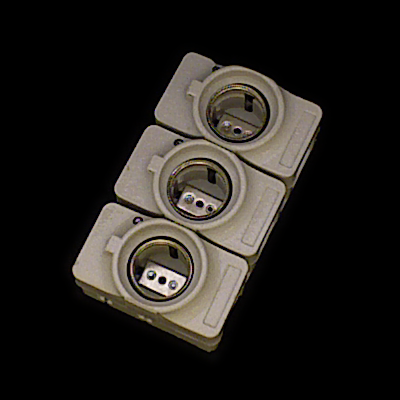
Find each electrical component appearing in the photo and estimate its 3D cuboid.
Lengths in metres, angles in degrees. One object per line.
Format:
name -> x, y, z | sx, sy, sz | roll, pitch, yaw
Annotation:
electrical component -> 0.000, 0.000, 0.631 | 0.089, 0.150, 0.062 | 24, -16, 8
